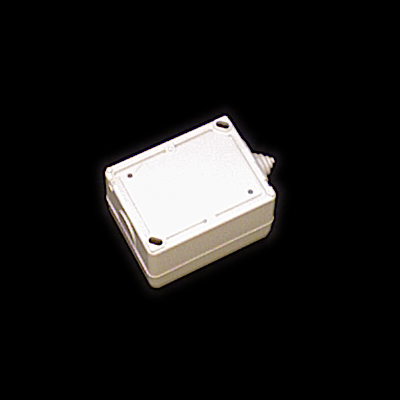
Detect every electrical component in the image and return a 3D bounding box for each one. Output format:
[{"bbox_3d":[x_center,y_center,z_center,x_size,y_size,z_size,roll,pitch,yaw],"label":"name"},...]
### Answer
[{"bbox_3d":[0.000,0.000,0.627,0.096,0.062,0.060,-25,-24,-13],"label":"electrical component"}]
